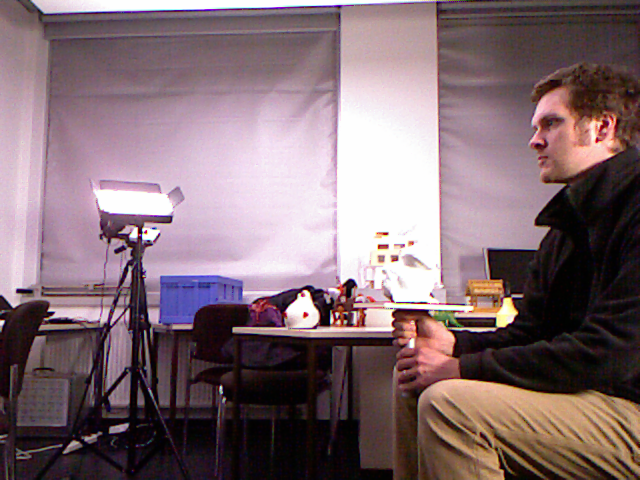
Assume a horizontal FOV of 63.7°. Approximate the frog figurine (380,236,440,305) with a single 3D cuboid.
[{"bbox_3d":[0.211,0.071,1.199,0.137,0.160,0.122,3,-4,4],"label":"frog figurine"}]
